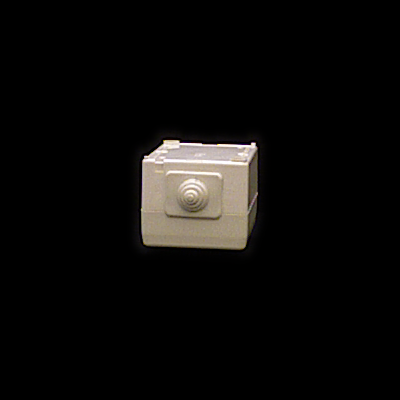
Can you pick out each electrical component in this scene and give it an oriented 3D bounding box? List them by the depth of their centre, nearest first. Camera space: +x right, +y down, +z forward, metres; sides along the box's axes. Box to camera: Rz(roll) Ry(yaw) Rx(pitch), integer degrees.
[{"bbox_3d":[0.000,0.000,0.643,0.061,0.061,0.095,2,11,6],"label":"electrical component"}]
